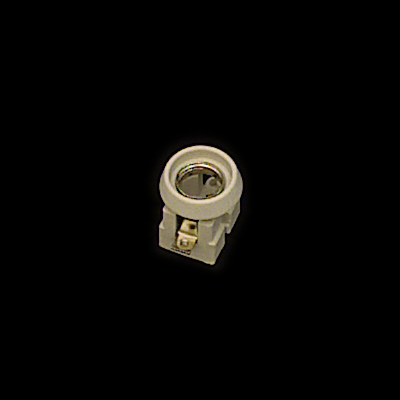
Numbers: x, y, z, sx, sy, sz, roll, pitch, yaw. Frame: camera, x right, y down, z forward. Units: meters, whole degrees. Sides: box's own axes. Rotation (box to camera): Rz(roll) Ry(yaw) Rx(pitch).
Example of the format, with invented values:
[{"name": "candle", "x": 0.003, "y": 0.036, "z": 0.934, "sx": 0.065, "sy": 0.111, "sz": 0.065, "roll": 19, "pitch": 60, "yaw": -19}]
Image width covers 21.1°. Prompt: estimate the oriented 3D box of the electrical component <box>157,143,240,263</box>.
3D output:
[{"name": "electrical component", "x": 0.000, "y": 0.000, "z": 0.637, "sx": 0.048, "sy": 0.066, "sz": 0.055, "roll": 16, "pitch": -36, "yaw": 14}]
